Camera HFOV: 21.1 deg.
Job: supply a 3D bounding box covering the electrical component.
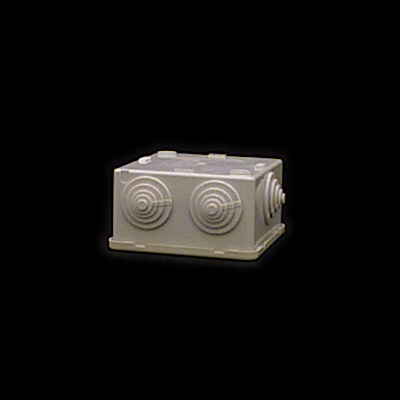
[{"bbox_3d":[0.000,0.000,0.645,0.099,0.049,0.099,4,11,15],"label":"electrical component"}]
